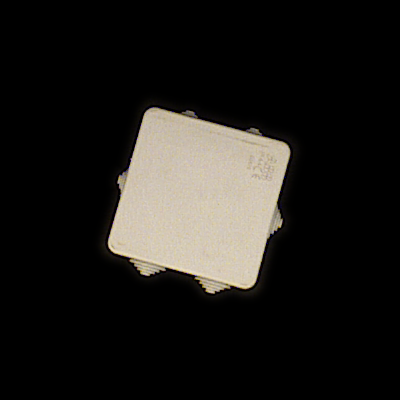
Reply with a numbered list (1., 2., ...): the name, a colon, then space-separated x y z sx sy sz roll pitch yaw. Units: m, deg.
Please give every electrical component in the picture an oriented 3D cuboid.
1. electrical component: 0.000 0.000 0.642 0.100 0.100 0.048 15 -6 2
